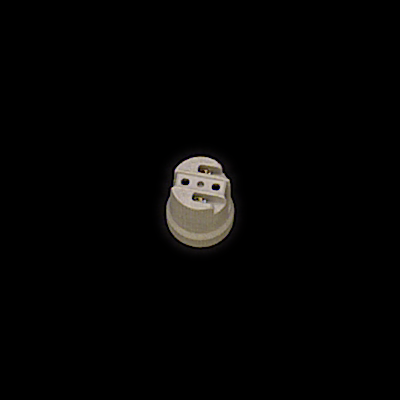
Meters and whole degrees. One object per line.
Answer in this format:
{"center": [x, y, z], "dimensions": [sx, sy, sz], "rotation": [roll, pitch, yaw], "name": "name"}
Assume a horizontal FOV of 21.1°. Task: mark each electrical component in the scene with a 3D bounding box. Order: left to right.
{"center": [0.000, 0.000, 0.632], "dimensions": [0.040, 0.040, 0.046], "rotation": [0, -26, 0], "name": "electrical component"}
